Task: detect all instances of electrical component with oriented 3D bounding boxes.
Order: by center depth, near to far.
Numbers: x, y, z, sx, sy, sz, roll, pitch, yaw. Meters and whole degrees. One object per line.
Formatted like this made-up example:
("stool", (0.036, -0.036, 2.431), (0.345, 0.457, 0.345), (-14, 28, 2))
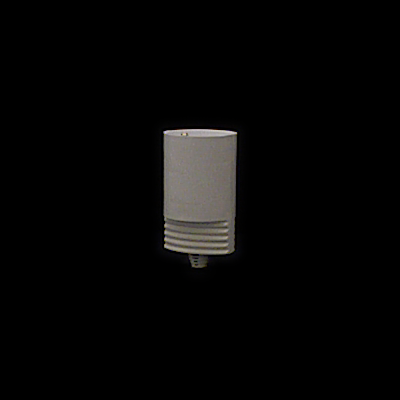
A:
("electrical component", (0.000, 0.000, 0.640), (0.043, 0.081, 0.043), (1, 10, 0))
